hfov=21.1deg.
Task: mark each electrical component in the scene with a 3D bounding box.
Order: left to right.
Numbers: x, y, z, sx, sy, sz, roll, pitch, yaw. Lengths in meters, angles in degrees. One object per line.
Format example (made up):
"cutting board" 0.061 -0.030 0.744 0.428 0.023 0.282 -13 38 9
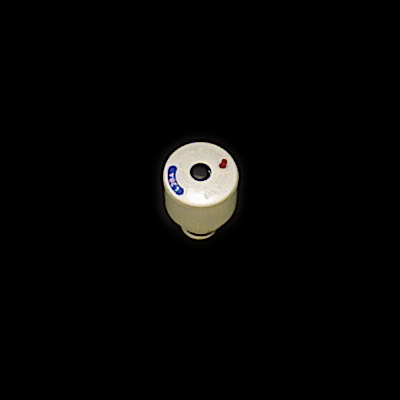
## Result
"electrical component" 0.000 0.000 0.618 0.040 0.040 0.078 0 -28 -1
